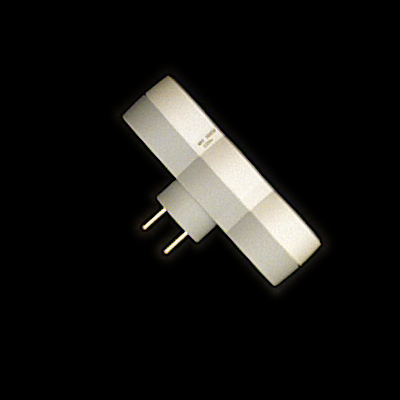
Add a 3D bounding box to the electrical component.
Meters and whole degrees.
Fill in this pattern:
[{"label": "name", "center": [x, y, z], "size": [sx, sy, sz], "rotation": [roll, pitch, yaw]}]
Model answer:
[{"label": "electrical component", "center": [0.000, 0.000, 0.639], "size": [0.074, 0.138, 0.052], "rotation": [-42, -4, -2]}]
